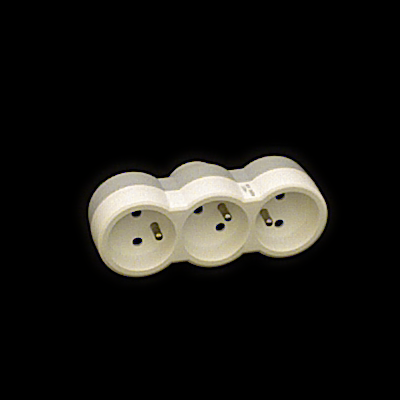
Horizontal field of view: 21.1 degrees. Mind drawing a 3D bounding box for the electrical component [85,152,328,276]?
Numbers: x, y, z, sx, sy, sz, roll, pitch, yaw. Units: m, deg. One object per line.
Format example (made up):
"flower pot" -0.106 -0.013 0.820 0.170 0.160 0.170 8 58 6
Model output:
"electrical component" 0.000 0.000 0.647 0.139 0.053 0.072 -7 31 -13
